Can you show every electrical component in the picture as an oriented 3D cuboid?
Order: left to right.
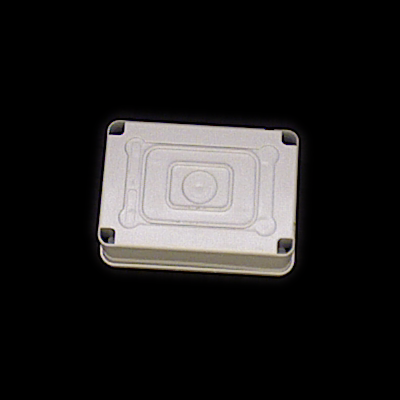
[{"bbox_3d":[0.000,0.000,0.628,0.113,0.078,0.057,3,-17,1],"label":"electrical component"}]
